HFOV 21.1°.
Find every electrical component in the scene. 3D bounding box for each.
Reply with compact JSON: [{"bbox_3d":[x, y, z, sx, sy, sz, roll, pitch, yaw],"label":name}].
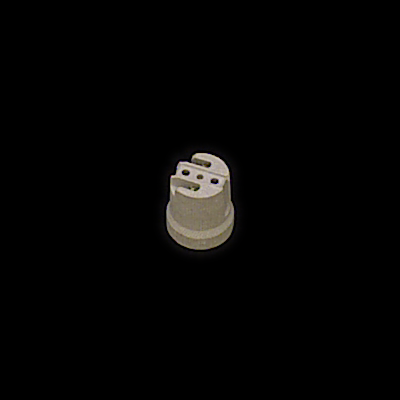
[{"bbox_3d":[0.000,0.000,0.634,0.040,0.040,0.046,0,-38,-1],"label":"electrical component"}]
